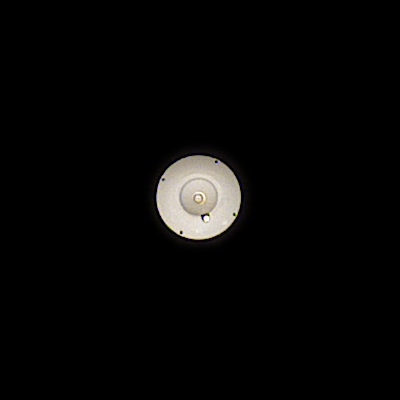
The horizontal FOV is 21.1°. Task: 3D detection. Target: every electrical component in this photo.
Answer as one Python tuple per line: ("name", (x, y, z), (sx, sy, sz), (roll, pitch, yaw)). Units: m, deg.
("electrical component", (0.000, 0.000, 0.634), (0.048, 0.048, 0.062), (0, -5, 1))
